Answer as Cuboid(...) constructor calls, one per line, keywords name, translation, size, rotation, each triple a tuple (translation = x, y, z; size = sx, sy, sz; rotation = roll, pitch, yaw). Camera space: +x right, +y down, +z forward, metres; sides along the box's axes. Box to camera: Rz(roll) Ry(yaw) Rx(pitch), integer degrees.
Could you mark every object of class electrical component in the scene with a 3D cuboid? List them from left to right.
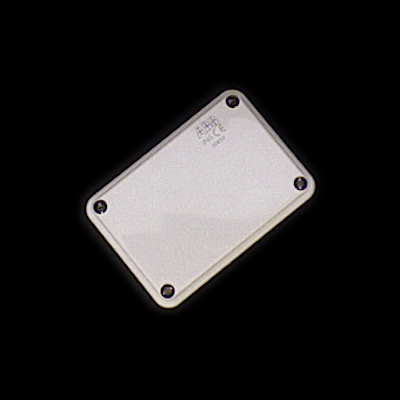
Cuboid(name="electrical component", translation=(0.000, 0.000, 0.628), size=(0.113, 0.078, 0.057), rotation=(-39, -5, -4))
